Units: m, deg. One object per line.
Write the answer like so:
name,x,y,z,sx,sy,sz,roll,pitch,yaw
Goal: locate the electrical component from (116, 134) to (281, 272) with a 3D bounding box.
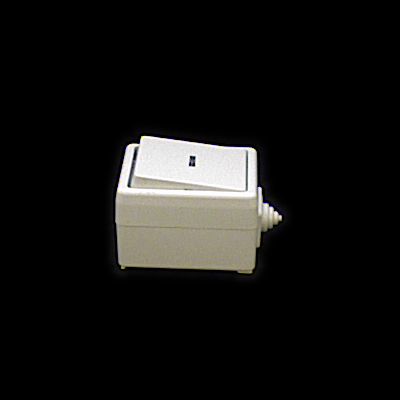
electrical component,0.000,0.000,0.634,0.096,0.061,0.061,2,31,1
